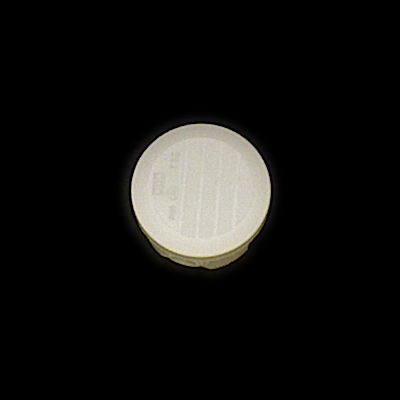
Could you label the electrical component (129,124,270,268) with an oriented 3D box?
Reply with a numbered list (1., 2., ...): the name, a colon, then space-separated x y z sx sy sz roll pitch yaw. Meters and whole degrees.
1. electrical component: 0.000 0.000 0.631 0.080 0.080 0.050 0 -17 0
